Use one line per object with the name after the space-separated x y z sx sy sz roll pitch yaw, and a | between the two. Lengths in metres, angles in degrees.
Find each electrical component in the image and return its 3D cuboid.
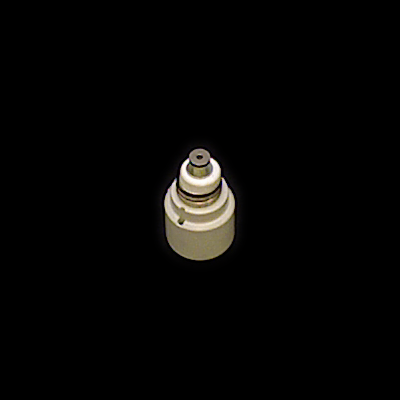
0.000 0.000 0.622 0.040 0.040 0.079 0 -37 0 | electrical component
